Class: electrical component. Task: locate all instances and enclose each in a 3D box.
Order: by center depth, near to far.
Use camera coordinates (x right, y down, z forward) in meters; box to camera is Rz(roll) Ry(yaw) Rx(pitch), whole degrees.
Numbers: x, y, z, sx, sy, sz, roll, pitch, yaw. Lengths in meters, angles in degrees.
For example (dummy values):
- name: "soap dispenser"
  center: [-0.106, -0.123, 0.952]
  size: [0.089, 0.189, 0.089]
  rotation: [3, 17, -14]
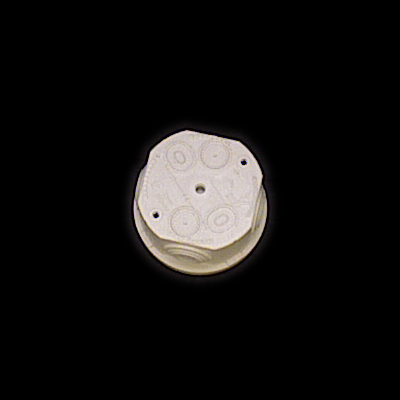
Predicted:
- name: "electrical component"
  center: [0.000, 0.000, 0.632]
  size: [0.080, 0.080, 0.050]
  rotation: [0, -17, -1]
